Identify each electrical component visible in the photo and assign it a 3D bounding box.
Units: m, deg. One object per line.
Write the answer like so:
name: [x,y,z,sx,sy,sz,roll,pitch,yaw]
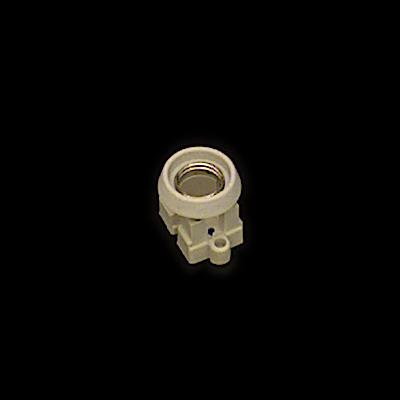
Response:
electrical component: [0.000,0.000,0.638,0.049,0.066,0.055,-23,-33,-19]
